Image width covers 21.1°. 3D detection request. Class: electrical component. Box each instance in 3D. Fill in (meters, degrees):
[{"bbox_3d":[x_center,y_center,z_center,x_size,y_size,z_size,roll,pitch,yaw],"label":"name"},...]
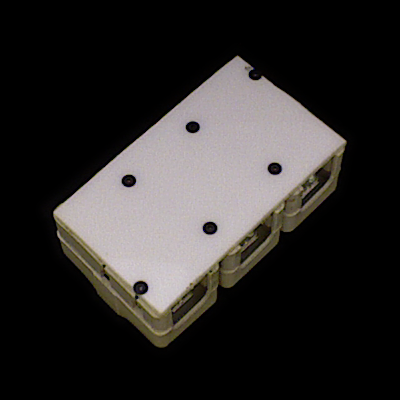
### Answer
[{"bbox_3d":[0.000,0.000,0.629,0.150,0.089,0.062,-41,-20,-18],"label":"electrical component"}]
